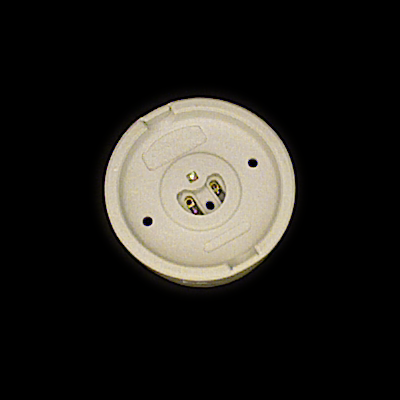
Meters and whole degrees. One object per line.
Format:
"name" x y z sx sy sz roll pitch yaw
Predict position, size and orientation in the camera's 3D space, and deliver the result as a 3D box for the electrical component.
"electrical component" 0.000 0.000 0.634 0.108 0.108 0.060 0 -16 0
